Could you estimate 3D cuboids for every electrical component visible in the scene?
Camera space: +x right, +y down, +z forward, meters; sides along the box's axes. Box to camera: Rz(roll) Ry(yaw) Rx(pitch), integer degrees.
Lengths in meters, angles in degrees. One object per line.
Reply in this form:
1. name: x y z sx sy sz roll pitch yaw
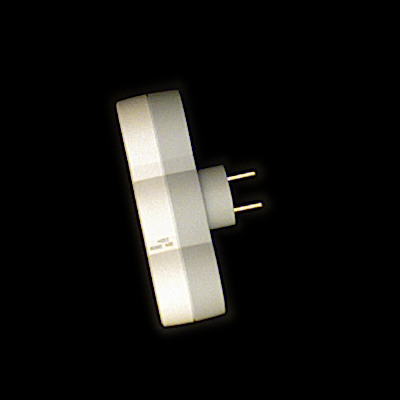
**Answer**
1. electrical component: 0.000 0.000 0.639 0.074 0.138 0.052 -12 -6 -3
